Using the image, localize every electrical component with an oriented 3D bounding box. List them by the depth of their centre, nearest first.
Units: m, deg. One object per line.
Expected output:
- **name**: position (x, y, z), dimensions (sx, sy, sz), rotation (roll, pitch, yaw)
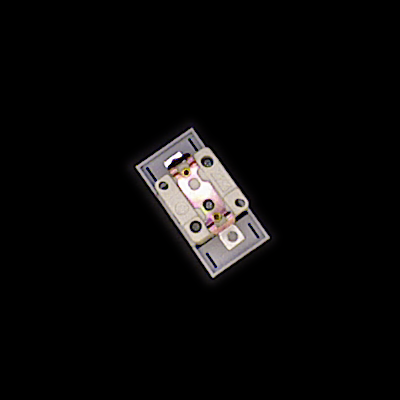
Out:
- **electrical component**: position (0.000, 0.000, 0.626), dimensions (0.042, 0.081, 0.063), rotation (-35, -5, -3)
